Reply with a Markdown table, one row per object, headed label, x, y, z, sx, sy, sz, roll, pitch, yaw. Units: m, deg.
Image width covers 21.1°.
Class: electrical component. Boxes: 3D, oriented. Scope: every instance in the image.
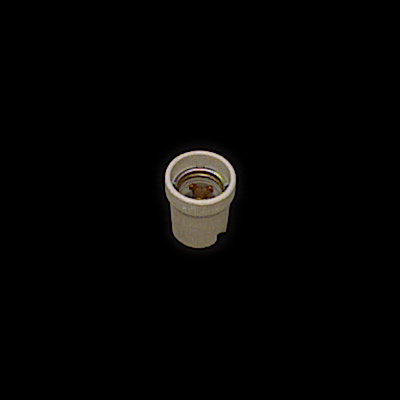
| label | x | y | z | sx | sy | sz | roll | pitch | yaw |
| --- | --- | --- | --- | --- | --- | --- | --- | --- | --- |
| electrical component | 0.000 | 0.000 | 0.630 | 0.040 | 0.040 | 0.046 | 0 | -38 | -1 |
